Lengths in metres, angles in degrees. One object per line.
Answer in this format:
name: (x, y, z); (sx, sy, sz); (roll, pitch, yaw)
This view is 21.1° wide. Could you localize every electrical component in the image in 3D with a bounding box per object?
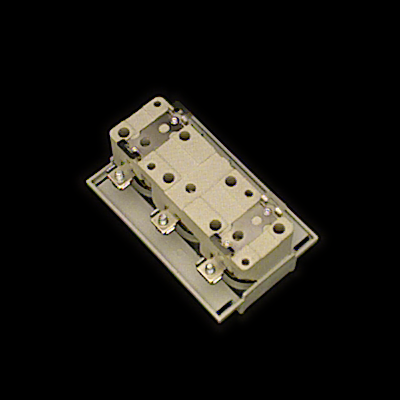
electrical component: (0.000, 0.000, 0.635); (0.079, 0.121, 0.063); (-39, -20, -18)
